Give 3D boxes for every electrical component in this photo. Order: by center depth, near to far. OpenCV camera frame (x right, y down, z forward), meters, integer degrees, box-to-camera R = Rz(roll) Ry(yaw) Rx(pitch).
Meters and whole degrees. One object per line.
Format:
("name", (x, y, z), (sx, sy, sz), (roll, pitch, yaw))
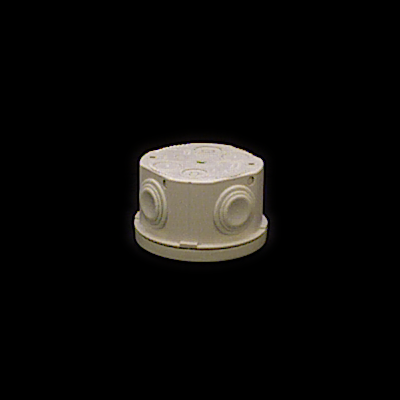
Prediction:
("electrical component", (0.000, 0.000, 0.641), (0.080, 0.051, 0.079), (0, 21, 0))
